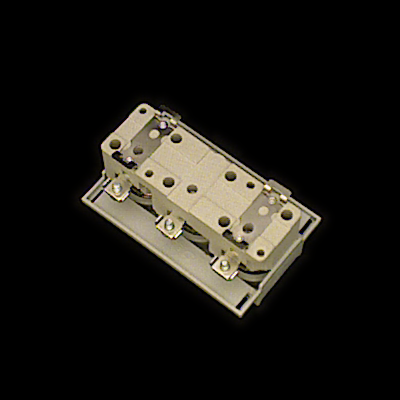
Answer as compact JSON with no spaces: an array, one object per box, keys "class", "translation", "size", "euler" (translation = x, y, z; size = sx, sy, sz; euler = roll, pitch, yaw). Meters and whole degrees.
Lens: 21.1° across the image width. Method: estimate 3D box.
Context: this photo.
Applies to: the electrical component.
[{"class":"electrical component","translation":[0.000,0.000,0.635],"size":[0.121,0.079,0.063],"euler":[35,-22,16]}]
